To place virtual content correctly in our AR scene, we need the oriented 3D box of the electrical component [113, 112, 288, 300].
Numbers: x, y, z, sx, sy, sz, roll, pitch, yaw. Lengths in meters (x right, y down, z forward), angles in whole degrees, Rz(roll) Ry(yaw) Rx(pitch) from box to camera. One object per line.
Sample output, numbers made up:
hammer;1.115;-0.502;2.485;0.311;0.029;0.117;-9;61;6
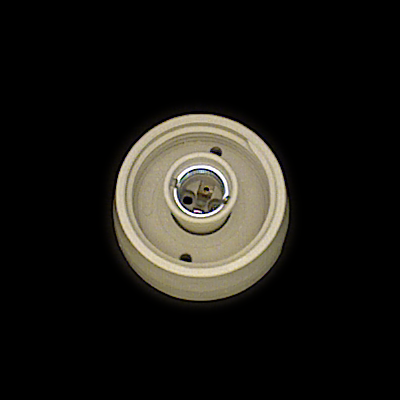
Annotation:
electrical component;0.000;0.000;0.634;0.108;0.108;0.060;0;-16;0
